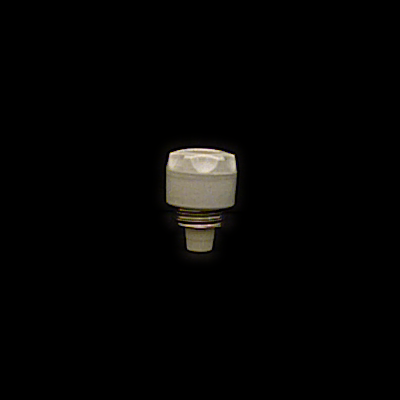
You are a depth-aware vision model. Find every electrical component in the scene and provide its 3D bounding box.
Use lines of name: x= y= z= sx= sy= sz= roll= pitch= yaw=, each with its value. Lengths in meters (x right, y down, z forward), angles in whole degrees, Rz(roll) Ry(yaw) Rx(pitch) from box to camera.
electrical component: x=0.000 y=0.000 z=0.651 sx=0.043 sy=0.062 sz=0.043 roll=2 pitch=12 yaw=0
